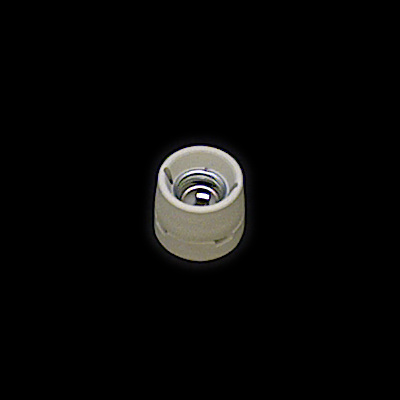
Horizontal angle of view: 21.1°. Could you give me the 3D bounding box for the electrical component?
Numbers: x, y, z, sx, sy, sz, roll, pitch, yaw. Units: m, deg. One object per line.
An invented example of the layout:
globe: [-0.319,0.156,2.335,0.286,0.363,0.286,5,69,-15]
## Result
electrical component: [0.000,0.000,0.634,0.055,0.055,0.047,0,-37,-2]
